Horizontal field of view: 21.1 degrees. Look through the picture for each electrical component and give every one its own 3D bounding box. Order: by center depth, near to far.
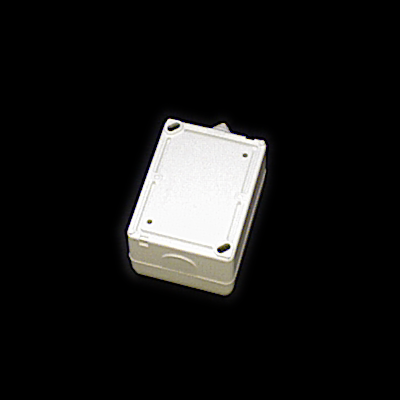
[{"bbox_3d":[0.001,0.000,0.630,0.061,0.096,0.061,14,-27,8],"label":"electrical component"}]
